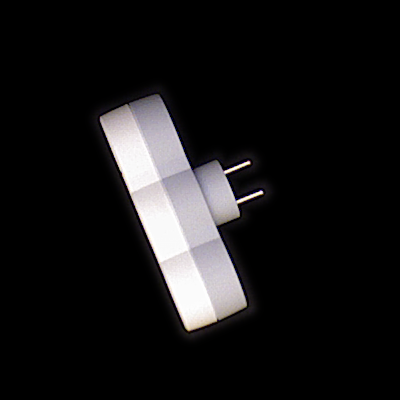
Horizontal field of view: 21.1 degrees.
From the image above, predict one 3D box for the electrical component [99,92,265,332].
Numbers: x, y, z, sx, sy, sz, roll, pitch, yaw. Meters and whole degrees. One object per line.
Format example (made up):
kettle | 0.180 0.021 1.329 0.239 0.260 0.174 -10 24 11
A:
electrical component | 0.000 0.000 0.632 0.074 0.138 0.052 -23 -7 -4
